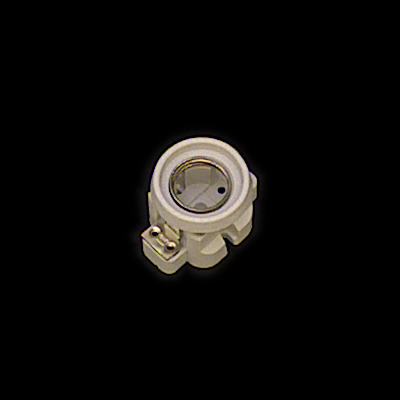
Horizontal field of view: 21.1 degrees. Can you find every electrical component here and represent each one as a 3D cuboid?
[{"bbox_3d":[0.000,0.000,0.627,0.079,0.058,0.056,-42,-20,-19],"label":"electrical component"}]
